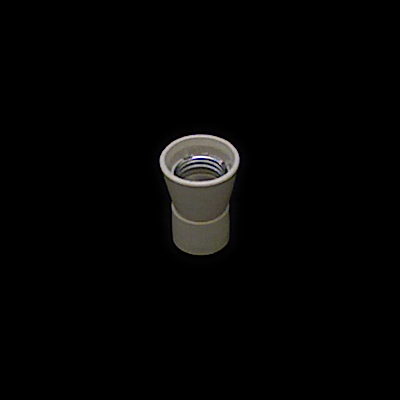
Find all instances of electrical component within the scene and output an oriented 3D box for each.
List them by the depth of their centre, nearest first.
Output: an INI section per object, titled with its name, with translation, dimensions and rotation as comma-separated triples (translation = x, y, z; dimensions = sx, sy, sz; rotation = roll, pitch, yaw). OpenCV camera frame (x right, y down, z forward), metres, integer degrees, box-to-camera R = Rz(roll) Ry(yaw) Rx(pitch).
[electrical component]
translation = 0.000, 0.000, 0.628
dimensions = 0.044, 0.066, 0.044
rotation = 0, 43, 0
